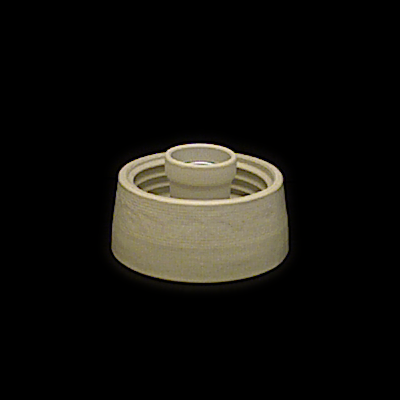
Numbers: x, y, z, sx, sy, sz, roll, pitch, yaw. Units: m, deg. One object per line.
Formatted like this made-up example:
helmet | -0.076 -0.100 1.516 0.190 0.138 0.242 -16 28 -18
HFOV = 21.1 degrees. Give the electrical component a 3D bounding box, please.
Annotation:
electrical component | 0.000 0.000 0.645 0.108 0.061 0.106 1 22 0
